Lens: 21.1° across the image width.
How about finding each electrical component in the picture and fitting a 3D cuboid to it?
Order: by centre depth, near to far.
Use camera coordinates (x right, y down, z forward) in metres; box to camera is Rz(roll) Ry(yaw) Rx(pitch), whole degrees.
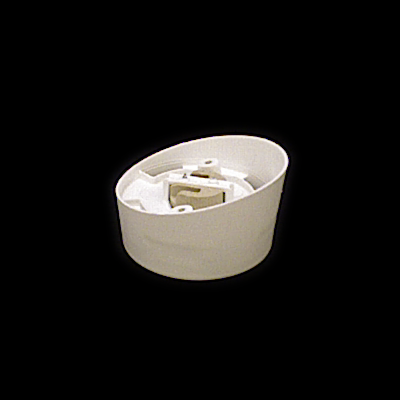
[{"bbox_3d":[0.000,0.000,0.633,0.099,0.065,0.097,2,31,-1],"label":"electrical component"}]
